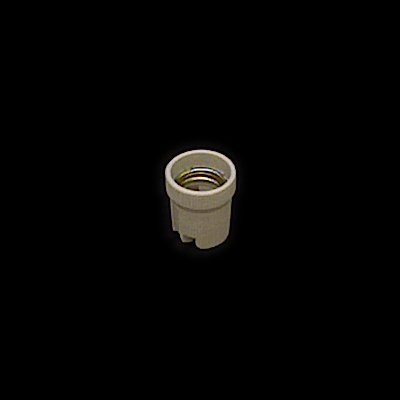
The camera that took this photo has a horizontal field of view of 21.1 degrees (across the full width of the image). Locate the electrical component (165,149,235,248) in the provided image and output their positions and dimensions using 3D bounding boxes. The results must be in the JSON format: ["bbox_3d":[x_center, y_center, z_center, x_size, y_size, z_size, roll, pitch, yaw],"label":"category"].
[{"bbox_3d":[0.000,0.000,0.632,0.040,0.047,0.039,1,42,0],"label":"electrical component"}]
